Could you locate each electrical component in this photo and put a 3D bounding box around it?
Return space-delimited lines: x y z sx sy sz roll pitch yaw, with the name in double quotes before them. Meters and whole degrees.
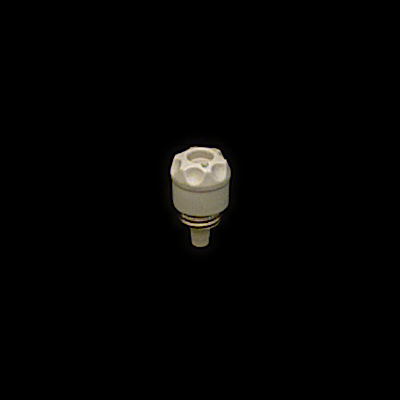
"electrical component" 0.000 0.000 0.639 0.035 0.062 0.035 1 32 0
